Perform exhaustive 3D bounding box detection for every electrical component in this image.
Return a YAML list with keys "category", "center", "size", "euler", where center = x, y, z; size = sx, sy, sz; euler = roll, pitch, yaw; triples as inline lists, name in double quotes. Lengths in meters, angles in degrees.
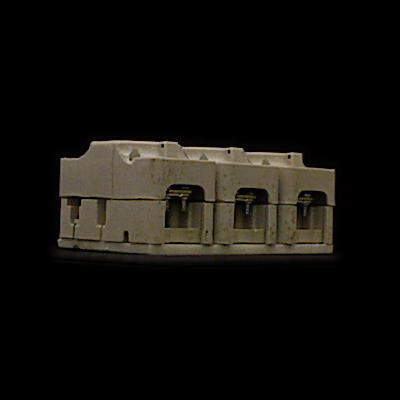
- category: "electrical component"
  center: [0.000, 0.000, 0.656]
  size: [0.150, 0.062, 0.089]
  euler: [1, 0, -43]
